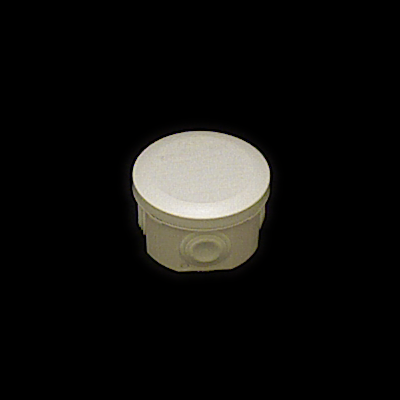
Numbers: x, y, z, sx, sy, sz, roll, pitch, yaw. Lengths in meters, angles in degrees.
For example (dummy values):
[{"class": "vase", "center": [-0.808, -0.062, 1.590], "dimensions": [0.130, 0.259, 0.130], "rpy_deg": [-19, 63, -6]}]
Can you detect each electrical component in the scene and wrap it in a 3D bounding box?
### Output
[{"class": "electrical component", "center": [0.000, 0.000, 0.634], "dimensions": [0.080, 0.051, 0.079], "rpy_deg": [1, 42, 0]}]
